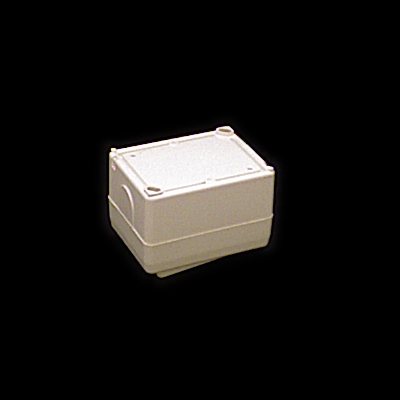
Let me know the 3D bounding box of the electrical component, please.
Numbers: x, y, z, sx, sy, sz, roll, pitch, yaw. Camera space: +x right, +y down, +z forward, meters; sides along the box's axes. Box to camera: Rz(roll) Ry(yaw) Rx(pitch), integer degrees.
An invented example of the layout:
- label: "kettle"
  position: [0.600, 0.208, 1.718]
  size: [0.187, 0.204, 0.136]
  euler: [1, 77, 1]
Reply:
- label: "electrical component"
  position: [0.000, 0.000, 0.633]
  size: [0.096, 0.061, 0.061]
  euler: [-12, 34, -22]
